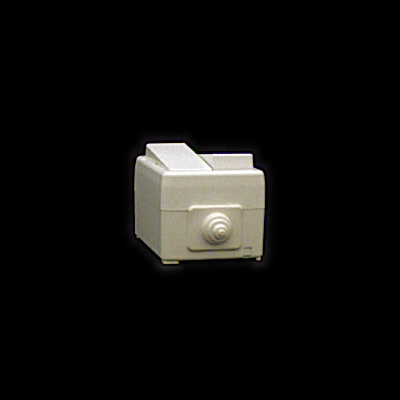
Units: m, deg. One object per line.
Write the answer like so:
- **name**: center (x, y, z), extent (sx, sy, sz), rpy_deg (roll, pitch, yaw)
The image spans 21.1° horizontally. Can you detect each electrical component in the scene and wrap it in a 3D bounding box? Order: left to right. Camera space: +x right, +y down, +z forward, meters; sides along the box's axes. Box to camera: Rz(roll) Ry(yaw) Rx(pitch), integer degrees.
- **electrical component**: center (0.000, 0.000, 0.642), extent (0.062, 0.061, 0.095), rpy_deg (-2, 10, -15)
